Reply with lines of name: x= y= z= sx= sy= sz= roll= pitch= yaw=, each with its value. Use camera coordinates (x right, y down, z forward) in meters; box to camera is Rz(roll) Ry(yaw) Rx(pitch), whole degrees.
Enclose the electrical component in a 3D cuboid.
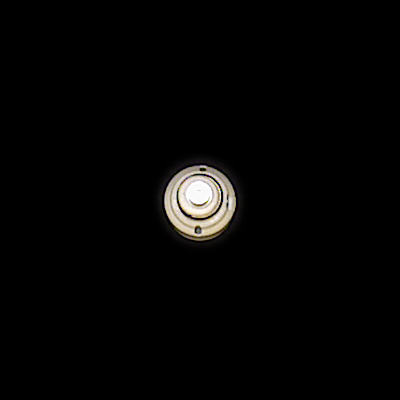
electrical component: x=0.000 y=0.000 z=0.618 sx=0.040 sy=0.040 sz=0.078 roll=0 pitch=-7 yaw=1
